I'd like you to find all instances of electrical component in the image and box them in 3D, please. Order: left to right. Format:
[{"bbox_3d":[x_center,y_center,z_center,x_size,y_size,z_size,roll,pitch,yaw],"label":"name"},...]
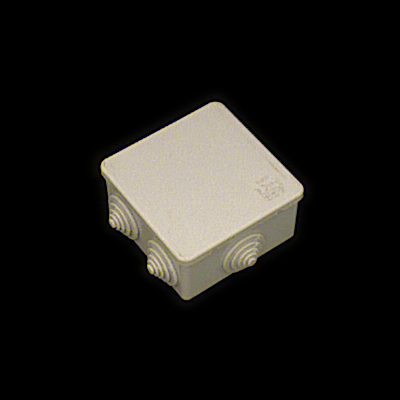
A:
[{"bbox_3d":[0.000,0.000,0.641,0.100,0.099,0.049,-30,-31,-21],"label":"electrical component"}]
